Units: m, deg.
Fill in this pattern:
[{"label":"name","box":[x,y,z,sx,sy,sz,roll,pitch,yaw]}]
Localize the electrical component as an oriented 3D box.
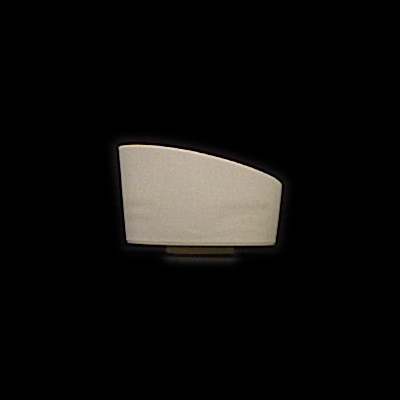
[{"label":"electrical component","box":[0.000,0.000,0.648,0.099,0.064,0.099,1,1,0]}]
